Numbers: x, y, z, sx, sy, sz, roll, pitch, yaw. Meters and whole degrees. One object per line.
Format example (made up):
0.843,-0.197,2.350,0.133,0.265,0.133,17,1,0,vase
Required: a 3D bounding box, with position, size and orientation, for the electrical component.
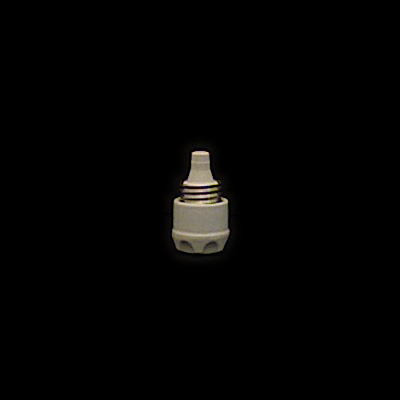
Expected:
0.000,0.000,0.656,0.035,0.062,0.035,-1,12,0,electrical component
